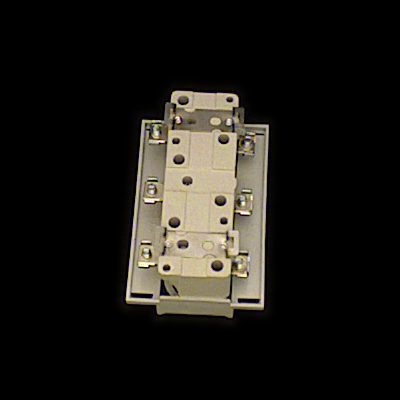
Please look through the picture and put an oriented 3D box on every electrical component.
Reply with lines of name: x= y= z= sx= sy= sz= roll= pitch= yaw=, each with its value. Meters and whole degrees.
electrical component: x=0.000 y=0.000 z=0.634 sx=0.079 sy=0.121 sz=0.063 roll=3 pitch=-26 yaw=1
